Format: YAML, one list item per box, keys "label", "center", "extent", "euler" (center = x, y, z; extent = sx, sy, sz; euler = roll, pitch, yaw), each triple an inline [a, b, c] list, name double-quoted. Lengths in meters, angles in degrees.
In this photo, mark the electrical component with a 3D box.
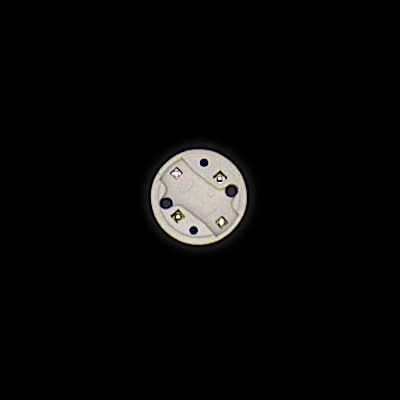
- label: "electrical component"
  center: [0.000, 0.000, 0.636]
  extent: [0.055, 0.055, 0.047]
  euler: [0, -7, 0]
